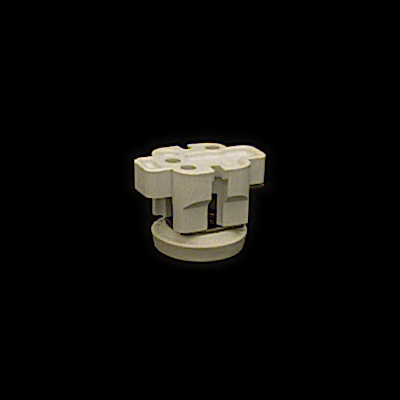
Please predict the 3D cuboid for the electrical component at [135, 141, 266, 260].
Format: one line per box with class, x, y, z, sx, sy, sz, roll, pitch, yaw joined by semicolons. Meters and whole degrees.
electrical component;0.000;0.000;0.648;0.079;0.057;0.057;-8;23;-26
